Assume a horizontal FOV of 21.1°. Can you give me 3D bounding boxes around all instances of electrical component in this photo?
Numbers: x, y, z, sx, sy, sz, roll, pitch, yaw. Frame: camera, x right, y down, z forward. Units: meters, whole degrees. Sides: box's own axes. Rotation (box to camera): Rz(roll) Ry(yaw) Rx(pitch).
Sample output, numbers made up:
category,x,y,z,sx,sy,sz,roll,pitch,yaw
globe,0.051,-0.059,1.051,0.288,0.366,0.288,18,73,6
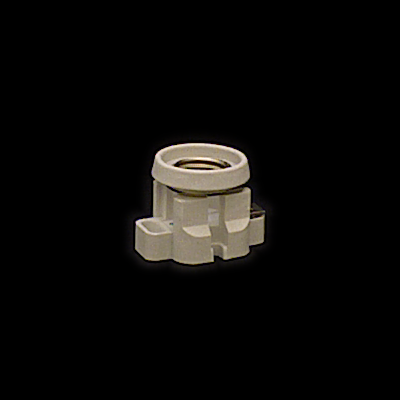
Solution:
category,x,y,z,sx,sy,sz,roll,pitch,yaw
electrical component,0.000,0.000,0.641,0.078,0.057,0.057,-8,23,-24
